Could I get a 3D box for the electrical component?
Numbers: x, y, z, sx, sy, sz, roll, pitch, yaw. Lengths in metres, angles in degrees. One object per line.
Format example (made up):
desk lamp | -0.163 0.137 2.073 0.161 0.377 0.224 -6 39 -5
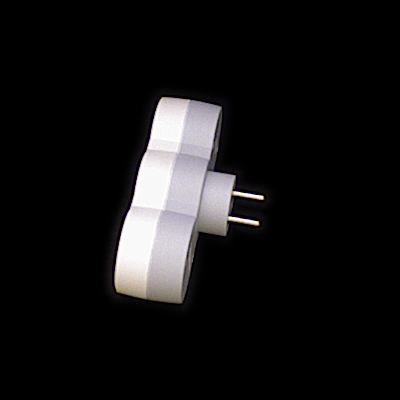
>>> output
electrical component | 0.000 0.000 0.633 0.074 0.138 0.052 10 -38 4
